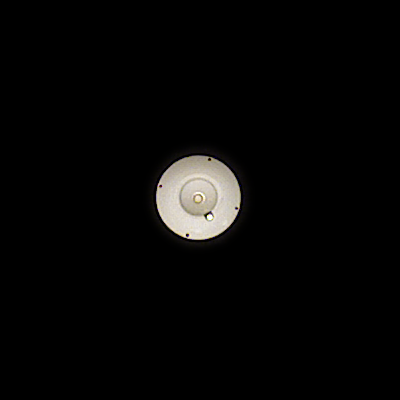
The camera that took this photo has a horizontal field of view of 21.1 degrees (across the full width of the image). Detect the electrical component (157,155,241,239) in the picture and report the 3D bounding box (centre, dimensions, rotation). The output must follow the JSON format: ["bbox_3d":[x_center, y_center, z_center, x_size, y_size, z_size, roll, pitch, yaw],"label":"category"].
[{"bbox_3d":[0.000,0.000,0.635,0.048,0.048,0.062,0,-6,0],"label":"electrical component"}]
